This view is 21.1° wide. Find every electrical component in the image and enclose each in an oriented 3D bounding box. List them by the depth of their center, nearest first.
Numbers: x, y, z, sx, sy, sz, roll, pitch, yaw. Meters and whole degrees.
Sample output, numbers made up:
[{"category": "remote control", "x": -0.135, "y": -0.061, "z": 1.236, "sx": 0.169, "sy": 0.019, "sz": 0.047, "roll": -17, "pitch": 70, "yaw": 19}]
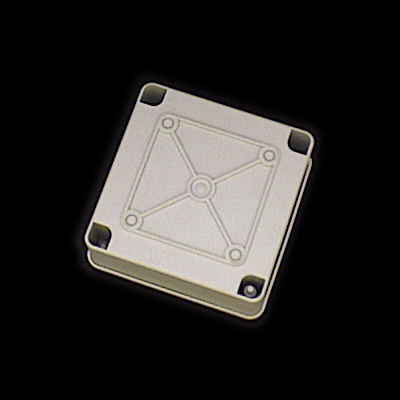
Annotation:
[{"category": "electrical component", "x": 0.000, "y": 0.000, "z": 0.627, "sx": 0.109, "sy": 0.109, "sz": 0.056, "roll": 18, "pitch": -16, "yaw": 5}]
